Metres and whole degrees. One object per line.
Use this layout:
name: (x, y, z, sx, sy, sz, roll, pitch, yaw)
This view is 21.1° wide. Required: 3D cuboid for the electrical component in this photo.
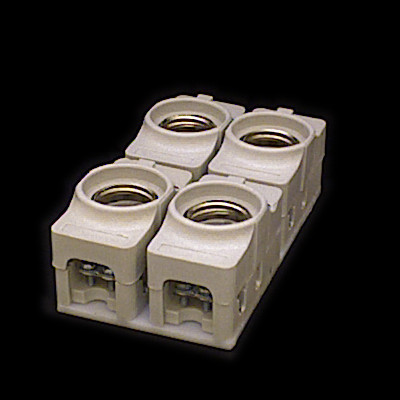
electrical component: (0.000, 0.000, 0.634, 0.105, 0.061, 0.184, 12, 33, 17)
